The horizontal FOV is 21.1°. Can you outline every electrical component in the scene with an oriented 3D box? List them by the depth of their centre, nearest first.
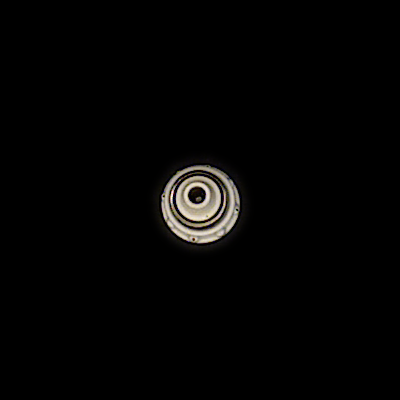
[{"bbox_3d":[0.000,0.000,0.635,0.048,0.048,0.062,0,-6,1],"label":"electrical component"}]
